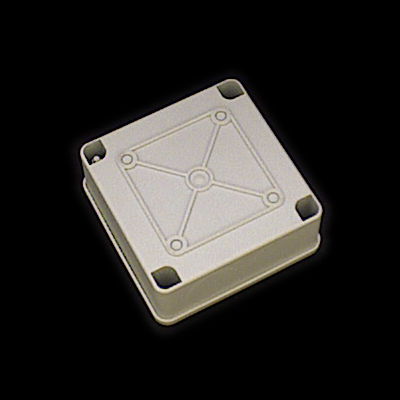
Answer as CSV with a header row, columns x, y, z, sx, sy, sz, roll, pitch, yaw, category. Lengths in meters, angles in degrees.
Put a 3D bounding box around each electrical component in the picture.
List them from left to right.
x,y,z,sx,sy,sz,roll,pitch,yaw,category
0.000,0.000,0.627,0.109,0.108,0.056,-26,-25,-13,electrical component
